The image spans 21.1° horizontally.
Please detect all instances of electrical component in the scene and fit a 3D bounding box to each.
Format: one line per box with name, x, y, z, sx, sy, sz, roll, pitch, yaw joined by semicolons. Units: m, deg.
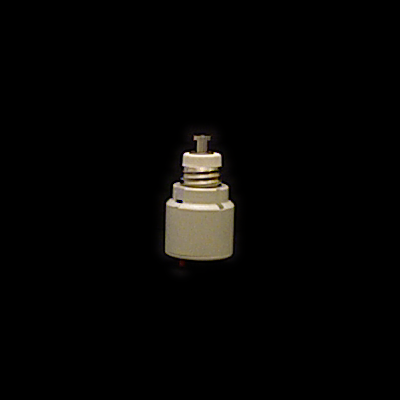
electrical component;0.000;0.000;0.644;0.040;0.079;0.040;2;12;0
